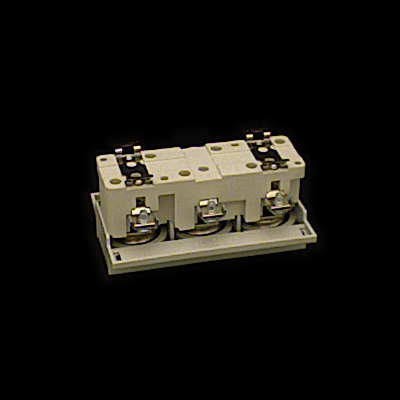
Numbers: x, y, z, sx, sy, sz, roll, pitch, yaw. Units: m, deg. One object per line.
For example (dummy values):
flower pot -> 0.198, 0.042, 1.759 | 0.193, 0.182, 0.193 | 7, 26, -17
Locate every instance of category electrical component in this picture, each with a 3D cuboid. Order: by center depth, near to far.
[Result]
electrical component -> 0.000, 0.000, 0.644 | 0.122, 0.064, 0.077 | -7, 32, -13
